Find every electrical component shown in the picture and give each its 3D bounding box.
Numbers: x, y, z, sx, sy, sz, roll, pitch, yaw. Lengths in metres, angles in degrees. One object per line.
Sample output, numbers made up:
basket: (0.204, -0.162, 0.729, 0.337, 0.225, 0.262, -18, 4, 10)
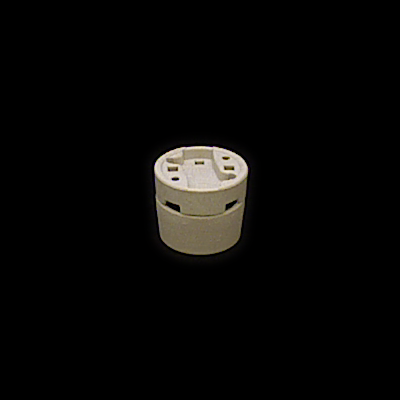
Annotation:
electrical component: (0.000, 0.000, 0.639, 0.055, 0.047, 0.055, 1, 32, 0)
